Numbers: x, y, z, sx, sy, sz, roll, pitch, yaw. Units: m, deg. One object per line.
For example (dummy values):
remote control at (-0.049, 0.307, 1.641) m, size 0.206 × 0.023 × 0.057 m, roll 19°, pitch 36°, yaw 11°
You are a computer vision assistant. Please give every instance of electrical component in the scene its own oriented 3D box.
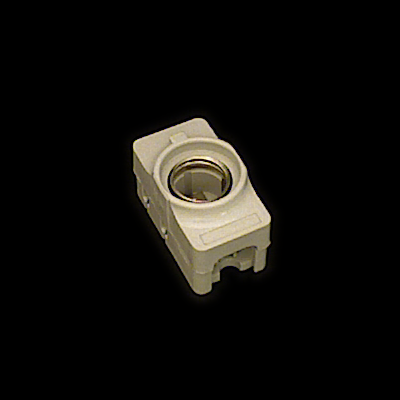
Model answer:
electrical component at (0.000, 0.000, 0.637) m, size 0.050 × 0.089 × 0.056 m, roll -22°, pitch -33°, yaw -16°
